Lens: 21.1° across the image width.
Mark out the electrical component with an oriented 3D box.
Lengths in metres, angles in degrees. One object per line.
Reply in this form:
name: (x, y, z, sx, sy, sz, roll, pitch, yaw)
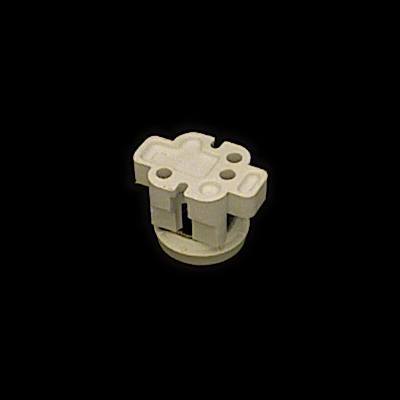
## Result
electrical component: (0.000, 0.000, 0.639, 0.078, 0.057, 0.058, 17, 46, 19)
